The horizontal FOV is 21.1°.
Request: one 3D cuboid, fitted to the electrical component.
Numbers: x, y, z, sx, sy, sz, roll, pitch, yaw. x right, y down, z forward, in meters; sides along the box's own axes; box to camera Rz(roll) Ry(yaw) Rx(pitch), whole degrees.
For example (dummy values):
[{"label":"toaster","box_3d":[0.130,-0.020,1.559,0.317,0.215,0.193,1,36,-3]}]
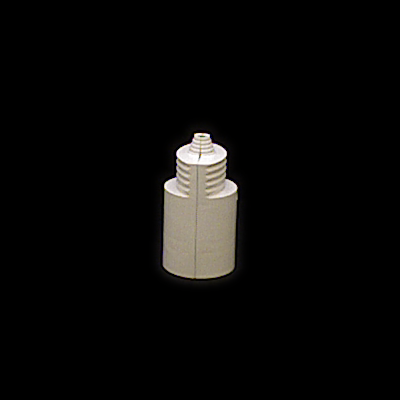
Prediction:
[{"label":"electrical component","box_3d":[0.000,0.000,0.634,0.043,0.082,0.042,1,21,0]}]
